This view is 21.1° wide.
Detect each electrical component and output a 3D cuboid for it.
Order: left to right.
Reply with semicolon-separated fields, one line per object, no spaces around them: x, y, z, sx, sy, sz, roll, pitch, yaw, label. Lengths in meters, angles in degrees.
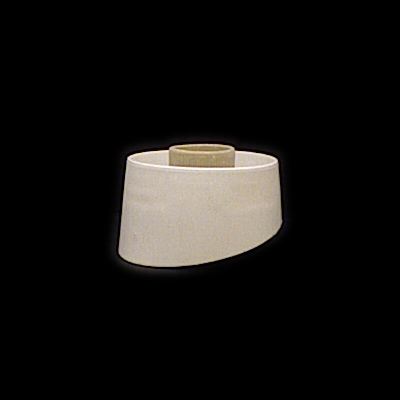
0.000;0.000;0.645;0.099;0.064;0.098;1;11;0;electrical component
